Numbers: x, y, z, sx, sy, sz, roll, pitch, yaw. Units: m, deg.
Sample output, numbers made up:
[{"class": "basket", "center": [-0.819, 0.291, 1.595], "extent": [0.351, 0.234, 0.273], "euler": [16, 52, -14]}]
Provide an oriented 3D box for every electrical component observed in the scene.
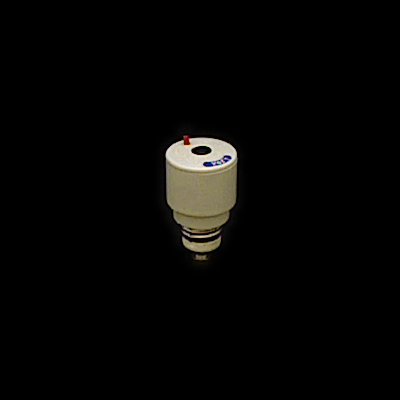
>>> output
[{"class": "electrical component", "center": [0.000, 0.000, 0.631], "extent": [0.040, 0.079, 0.039], "euler": [0, 31, 0]}]
